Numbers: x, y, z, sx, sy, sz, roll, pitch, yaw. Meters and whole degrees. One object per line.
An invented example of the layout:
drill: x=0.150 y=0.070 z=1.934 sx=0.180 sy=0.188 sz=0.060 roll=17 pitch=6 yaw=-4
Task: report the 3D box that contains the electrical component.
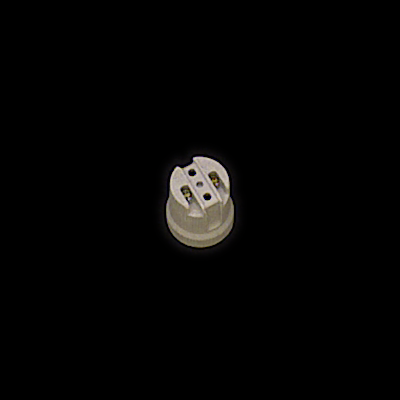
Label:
electrical component: x=0.000 y=0.000 z=0.632 sx=0.040 sy=0.040 sz=0.046 roll=0 pitch=-27 yaw=0
